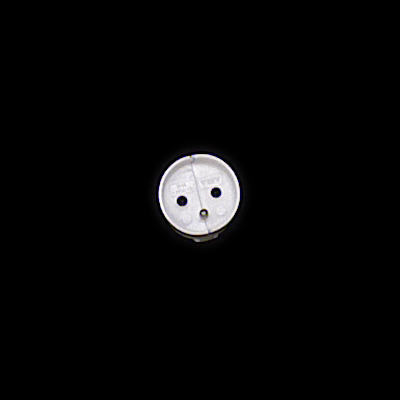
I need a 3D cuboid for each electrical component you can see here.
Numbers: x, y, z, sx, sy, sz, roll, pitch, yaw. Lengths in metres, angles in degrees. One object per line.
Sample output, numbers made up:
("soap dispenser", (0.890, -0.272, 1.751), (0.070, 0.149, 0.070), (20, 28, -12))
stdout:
("electrical component", (0.000, 0.000, 0.615), (0.043, 0.043, 0.080), (0, -5, 0))
